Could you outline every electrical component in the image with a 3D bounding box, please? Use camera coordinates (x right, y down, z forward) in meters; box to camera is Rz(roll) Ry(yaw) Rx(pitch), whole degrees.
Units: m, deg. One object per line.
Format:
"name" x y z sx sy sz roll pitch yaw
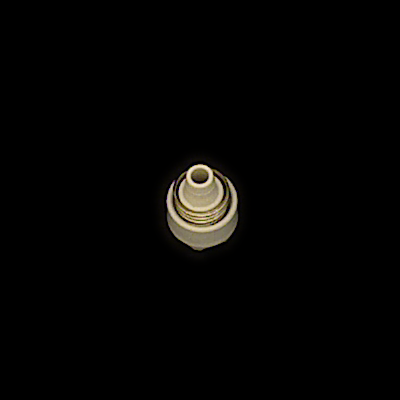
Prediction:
"electrical component" 0.000 0.000 0.634 0.043 0.043 0.062 0 -28 1
